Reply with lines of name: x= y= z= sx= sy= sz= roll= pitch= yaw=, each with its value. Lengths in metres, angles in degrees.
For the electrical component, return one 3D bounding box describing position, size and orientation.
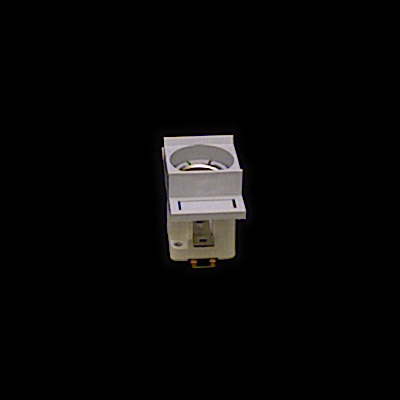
electrical component: x=0.000 y=0.000 z=0.631 sx=0.042 sy=0.064 sz=0.079 roll=-1 pitch=31 yaw=-5
